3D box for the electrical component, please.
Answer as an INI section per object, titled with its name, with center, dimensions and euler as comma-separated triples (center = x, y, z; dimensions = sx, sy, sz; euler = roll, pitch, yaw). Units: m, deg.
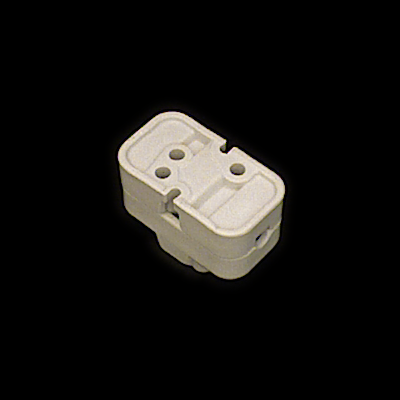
[electrical component]
center = 0.000, 0.000, 0.634
dimensions = 0.094, 0.054, 0.059
euler = 35, -30, 22
